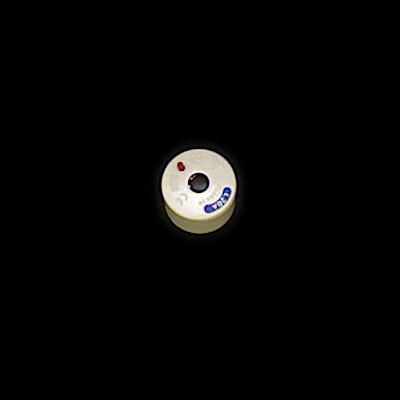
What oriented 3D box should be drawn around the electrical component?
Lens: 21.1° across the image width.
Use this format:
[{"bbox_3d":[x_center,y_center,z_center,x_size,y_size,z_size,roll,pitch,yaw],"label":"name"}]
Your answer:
[{"bbox_3d":[0.000,0.000,0.617,0.040,0.040,0.078,0,-17,1],"label":"electrical component"}]
